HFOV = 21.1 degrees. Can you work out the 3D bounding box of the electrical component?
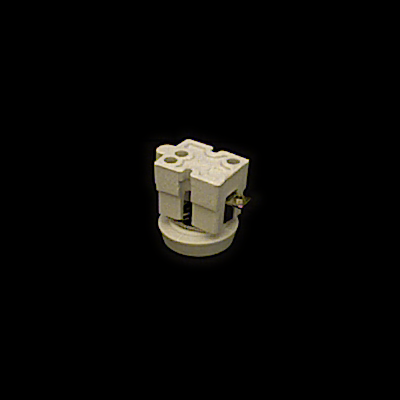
[{"bbox_3d":[0.000,0.000,0.643,0.066,0.056,0.048,20,36,25],"label":"electrical component"}]
